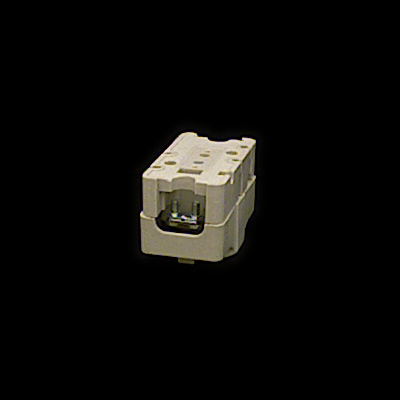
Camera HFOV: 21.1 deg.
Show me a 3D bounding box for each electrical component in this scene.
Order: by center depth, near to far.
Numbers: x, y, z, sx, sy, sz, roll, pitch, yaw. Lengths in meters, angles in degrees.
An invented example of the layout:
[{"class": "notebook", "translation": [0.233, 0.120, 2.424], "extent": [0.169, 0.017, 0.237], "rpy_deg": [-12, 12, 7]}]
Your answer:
[{"class": "electrical component", "translation": [0.000, 0.000, 0.647], "extent": [0.050, 0.056, 0.089], "rpy_deg": [7, 23, 13]}]
